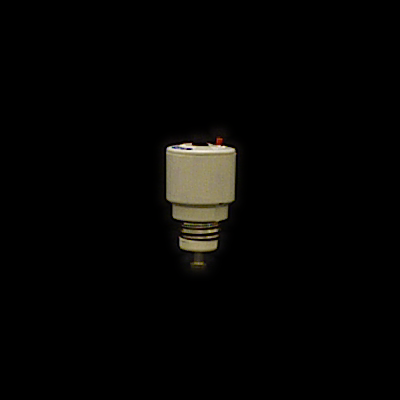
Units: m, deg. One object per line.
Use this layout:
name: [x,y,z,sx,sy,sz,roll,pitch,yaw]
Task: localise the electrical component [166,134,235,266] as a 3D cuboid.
electrical component: [0.000,0.000,0.643,0.040,0.079,0.040,2,11,0]
